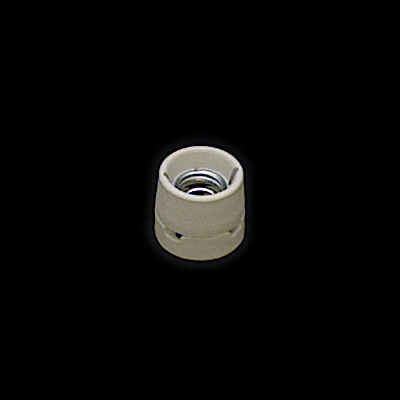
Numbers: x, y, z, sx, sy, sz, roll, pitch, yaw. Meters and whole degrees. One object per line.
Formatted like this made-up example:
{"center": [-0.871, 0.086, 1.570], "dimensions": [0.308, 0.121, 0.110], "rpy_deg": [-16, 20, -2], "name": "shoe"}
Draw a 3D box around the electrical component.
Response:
{"center": [0.000, 0.000, 0.636], "dimensions": [0.055, 0.047, 0.055], "rpy_deg": [1, 42, -1], "name": "electrical component"}
